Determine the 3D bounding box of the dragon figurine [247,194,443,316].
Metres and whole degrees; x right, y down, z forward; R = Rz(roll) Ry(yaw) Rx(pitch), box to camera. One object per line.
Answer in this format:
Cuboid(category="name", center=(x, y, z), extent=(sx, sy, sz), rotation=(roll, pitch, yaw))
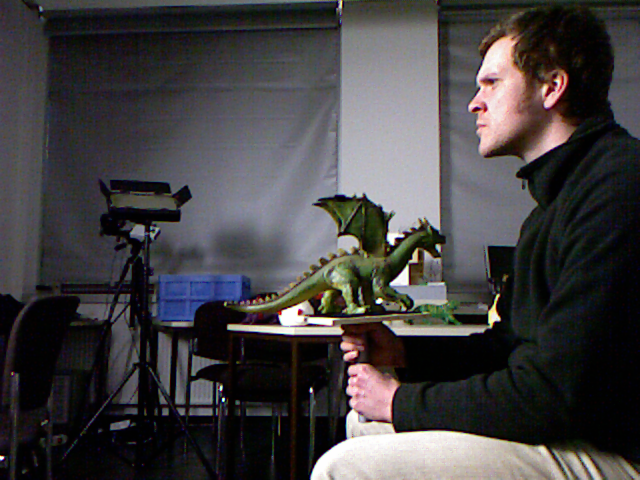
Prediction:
Cuboid(category="dragon figurine", center=(0.058, 0.029, 1.038), extent=(0.411, 0.243, 0.122), rotation=(-2, -1, -8))
